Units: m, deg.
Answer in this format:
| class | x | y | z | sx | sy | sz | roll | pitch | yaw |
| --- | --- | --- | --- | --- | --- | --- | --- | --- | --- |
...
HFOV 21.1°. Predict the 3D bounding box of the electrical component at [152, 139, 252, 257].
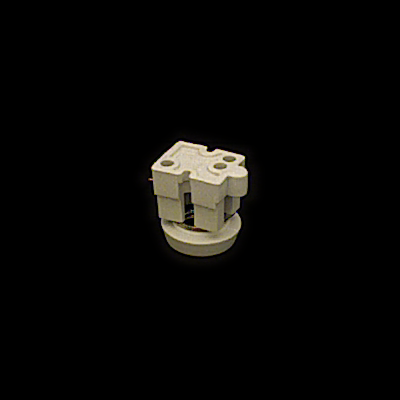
| class | x | y | z | sx | sy | sz | roll | pitch | yaw |
| --- | --- | --- | --- | --- | --- | --- | --- | --- | --- |
| electrical component | 0.000 | 0.000 | 0.644 | 0.066 | 0.056 | 0.048 | 15 | 36 | 22 |
